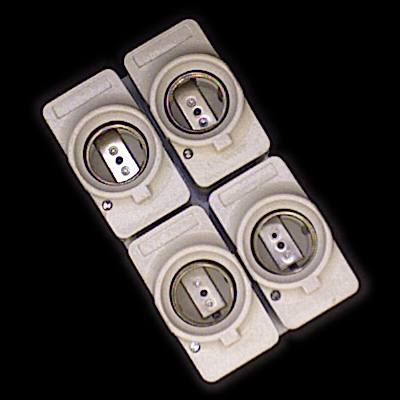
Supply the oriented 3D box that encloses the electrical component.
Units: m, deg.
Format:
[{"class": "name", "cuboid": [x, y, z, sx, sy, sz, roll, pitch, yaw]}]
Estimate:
[{"class": "electrical component", "cuboid": [0.000, 0.000, 0.626, 0.106, 0.186, 0.060, -32, -6, -4]}]
